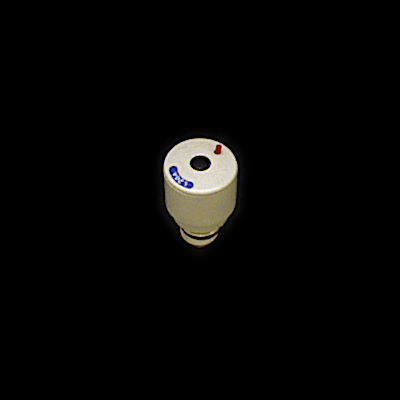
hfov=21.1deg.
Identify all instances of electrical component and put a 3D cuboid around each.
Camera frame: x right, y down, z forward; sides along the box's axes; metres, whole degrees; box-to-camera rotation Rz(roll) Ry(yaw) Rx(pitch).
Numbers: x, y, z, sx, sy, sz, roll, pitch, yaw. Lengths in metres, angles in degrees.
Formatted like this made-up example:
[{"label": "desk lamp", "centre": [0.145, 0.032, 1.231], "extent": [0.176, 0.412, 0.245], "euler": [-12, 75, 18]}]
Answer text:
[{"label": "electrical component", "centre": [0.000, 0.000, 0.621], "extent": [0.040, 0.040, 0.079], "euler": [0, -38, -1]}]
